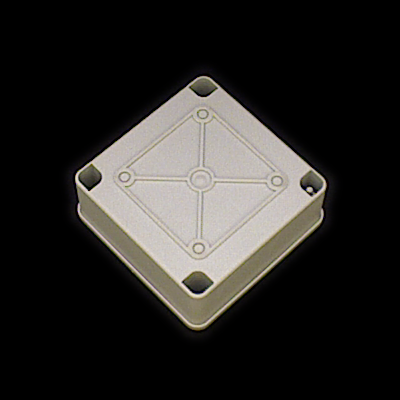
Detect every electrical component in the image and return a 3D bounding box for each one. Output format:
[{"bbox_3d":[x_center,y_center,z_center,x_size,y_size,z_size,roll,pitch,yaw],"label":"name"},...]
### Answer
[{"bbox_3d":[0.000,0.000,0.628,0.109,0.108,0.056,-40,-20,-19],"label":"electrical component"}]
